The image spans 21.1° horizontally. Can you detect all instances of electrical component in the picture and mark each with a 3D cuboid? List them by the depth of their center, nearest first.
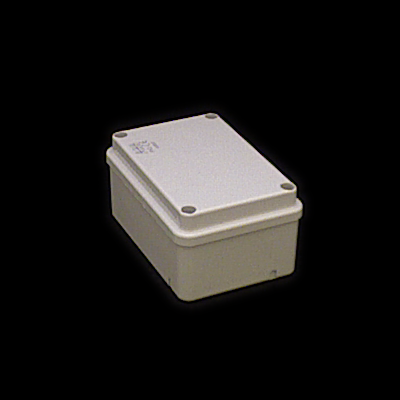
[{"bbox_3d":[0.000,0.000,0.633,0.078,0.058,0.111,-14,35,-23],"label":"electrical component"}]
